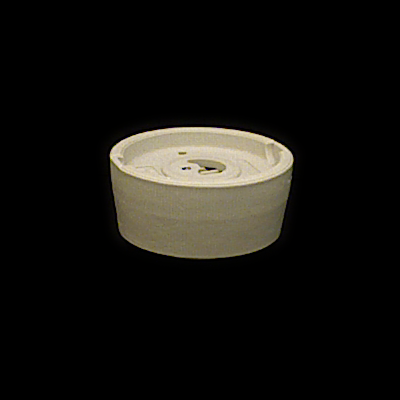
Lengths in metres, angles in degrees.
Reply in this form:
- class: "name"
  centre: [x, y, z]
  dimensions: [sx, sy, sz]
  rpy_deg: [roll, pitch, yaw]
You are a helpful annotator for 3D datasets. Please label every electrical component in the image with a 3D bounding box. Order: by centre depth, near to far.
- class: "electrical component"
  centre: [0.000, 0.000, 0.642]
  dimensions: [0.108, 0.061, 0.106]
  rpy_deg: [2, 21, 0]
